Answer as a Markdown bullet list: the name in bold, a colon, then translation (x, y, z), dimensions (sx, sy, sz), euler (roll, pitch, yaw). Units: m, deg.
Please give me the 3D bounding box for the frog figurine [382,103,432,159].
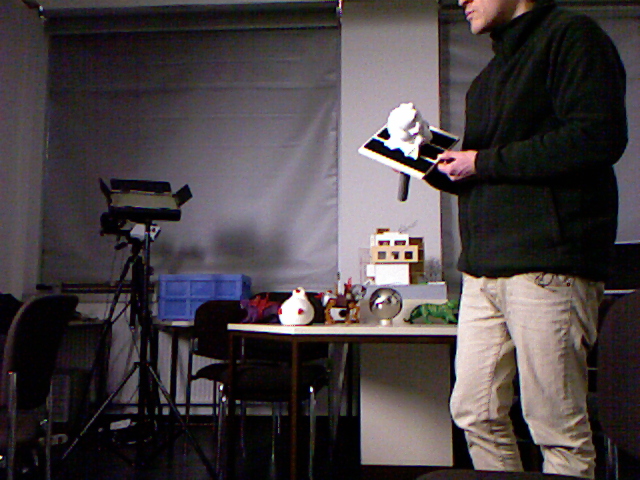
- **frog figurine**: translation (0.240, -0.312, 1.386), dimensions (0.124, 0.156, 0.140), euler (-27, 53, -22)
